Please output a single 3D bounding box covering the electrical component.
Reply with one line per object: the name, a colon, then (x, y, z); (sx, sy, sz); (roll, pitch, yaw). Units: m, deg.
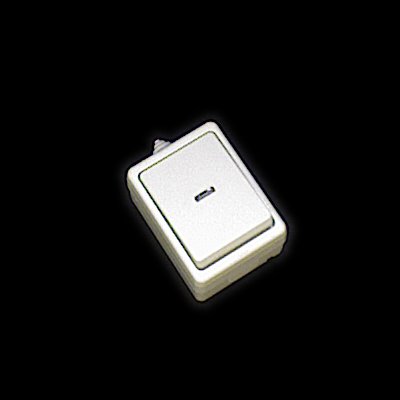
electrical component: (0.000, 0.000, 0.626); (0.062, 0.096, 0.060); (-31, -14, -9)
